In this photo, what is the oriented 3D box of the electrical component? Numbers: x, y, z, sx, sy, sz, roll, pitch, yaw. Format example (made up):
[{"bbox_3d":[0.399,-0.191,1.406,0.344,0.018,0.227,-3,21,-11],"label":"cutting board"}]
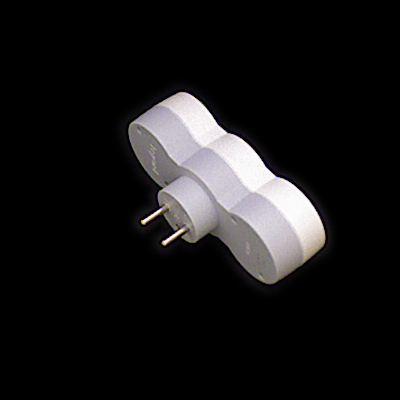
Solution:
[{"bbox_3d":[0.000,0.000,0.630,0.074,0.138,0.052,-35,-29,-22],"label":"electrical component"}]
